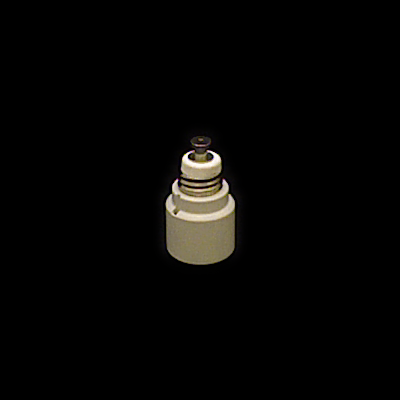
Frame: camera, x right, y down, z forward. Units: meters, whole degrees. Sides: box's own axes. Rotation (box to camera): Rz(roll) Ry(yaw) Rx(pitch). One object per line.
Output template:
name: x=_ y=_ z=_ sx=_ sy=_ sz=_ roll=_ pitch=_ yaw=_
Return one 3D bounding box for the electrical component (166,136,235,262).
electrical component: x=0.000 y=0.000 z=0.630 sx=0.040 sy=0.079 sz=0.039 roll=0 pitch=32 yaw=0
